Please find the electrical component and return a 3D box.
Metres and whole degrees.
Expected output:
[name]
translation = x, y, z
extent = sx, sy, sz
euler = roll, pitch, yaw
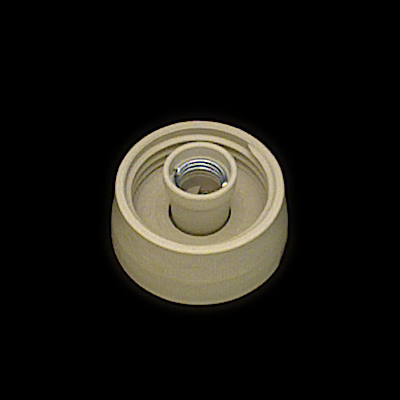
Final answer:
[electrical component]
translation = 0.000, 0.000, 0.635
extent = 0.108, 0.107, 0.060
euler = 0, -37, -1
